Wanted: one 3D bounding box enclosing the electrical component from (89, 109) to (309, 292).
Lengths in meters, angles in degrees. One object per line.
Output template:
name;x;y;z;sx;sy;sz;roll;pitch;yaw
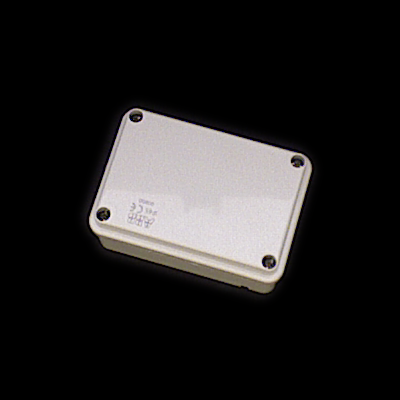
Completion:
electrical component;0.000;0.000;0.626;0.113;0.078;0.057;16;-16;5
